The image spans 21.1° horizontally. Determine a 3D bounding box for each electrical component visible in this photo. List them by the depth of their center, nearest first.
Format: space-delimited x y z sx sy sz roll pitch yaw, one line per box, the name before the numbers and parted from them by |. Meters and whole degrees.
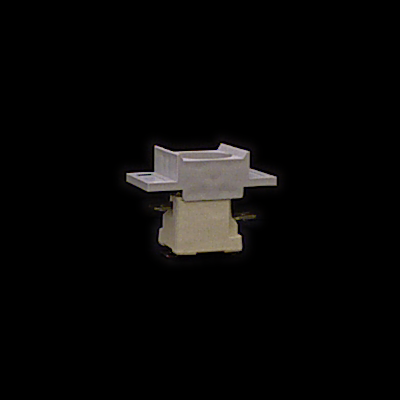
electrical component | 0.000 0.000 0.645 0.081 0.064 0.042 -3 11 -20
